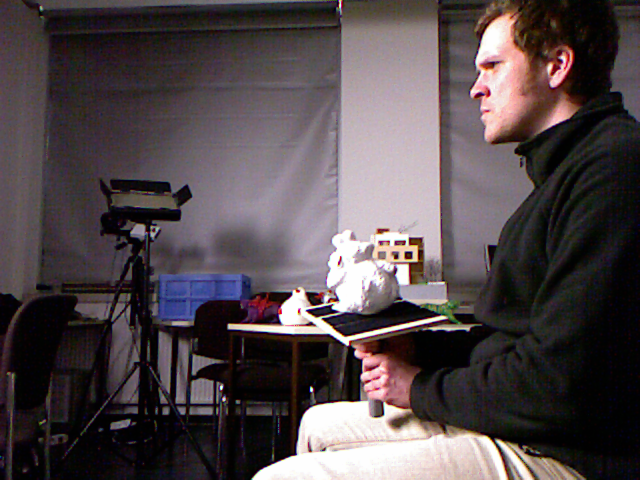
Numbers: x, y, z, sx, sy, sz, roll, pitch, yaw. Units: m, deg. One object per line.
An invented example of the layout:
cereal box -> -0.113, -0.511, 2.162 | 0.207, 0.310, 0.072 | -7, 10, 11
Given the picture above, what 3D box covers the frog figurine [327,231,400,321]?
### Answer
frog figurine -> 0.080, 0.064, 0.964 | 0.138, 0.157, 0.124 | -5, 17, -2
